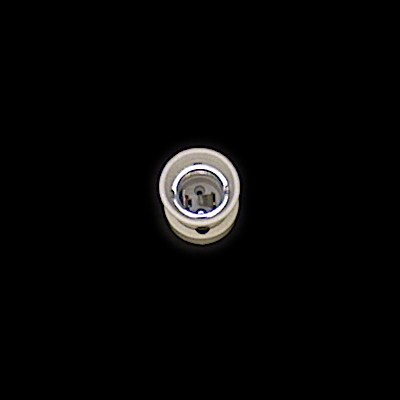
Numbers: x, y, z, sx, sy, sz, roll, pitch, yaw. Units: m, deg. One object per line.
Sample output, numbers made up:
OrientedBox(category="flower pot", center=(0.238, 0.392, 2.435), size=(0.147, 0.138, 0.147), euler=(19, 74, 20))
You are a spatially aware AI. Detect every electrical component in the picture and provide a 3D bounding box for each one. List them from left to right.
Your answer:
OrientedBox(category="electrical component", center=(0.000, 0.000, 0.627), size=(0.045, 0.045, 0.055), euler=(0, -17, 1))
